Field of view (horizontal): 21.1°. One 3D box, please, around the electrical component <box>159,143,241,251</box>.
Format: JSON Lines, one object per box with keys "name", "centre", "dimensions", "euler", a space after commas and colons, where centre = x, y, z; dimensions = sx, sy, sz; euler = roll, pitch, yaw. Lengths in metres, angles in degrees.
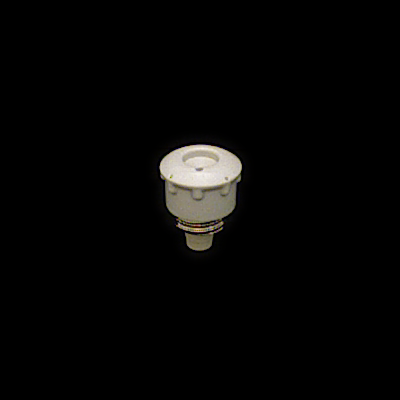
{"name": "electrical component", "centre": [0.000, 0.000, 0.641], "dimensions": [0.048, 0.063, 0.047], "euler": [1, 32, 0]}
